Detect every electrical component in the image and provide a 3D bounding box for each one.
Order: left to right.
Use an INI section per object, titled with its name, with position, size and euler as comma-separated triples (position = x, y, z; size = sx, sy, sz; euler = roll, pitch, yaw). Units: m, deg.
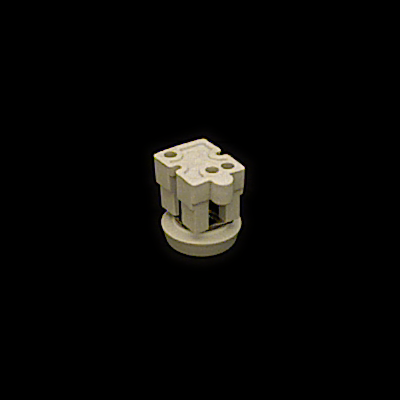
[electrical component]
position = 0.000, 0.000, 0.643
size = 0.048, 0.056, 0.065
euler = -20, 37, -27
